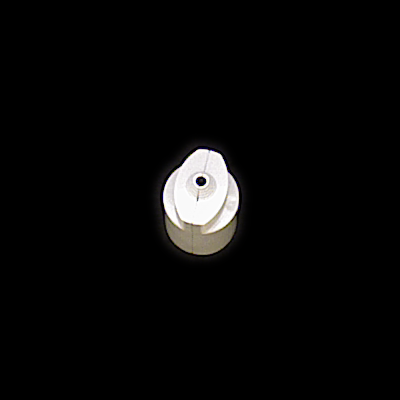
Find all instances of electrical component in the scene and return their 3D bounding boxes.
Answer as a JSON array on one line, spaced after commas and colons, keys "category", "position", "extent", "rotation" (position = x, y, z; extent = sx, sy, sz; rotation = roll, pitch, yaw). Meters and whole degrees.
[{"category": "electrical component", "position": [0.000, 0.000, 0.616], "extent": [0.043, 0.043, 0.080], "rotation": [0, -17, 0]}]
